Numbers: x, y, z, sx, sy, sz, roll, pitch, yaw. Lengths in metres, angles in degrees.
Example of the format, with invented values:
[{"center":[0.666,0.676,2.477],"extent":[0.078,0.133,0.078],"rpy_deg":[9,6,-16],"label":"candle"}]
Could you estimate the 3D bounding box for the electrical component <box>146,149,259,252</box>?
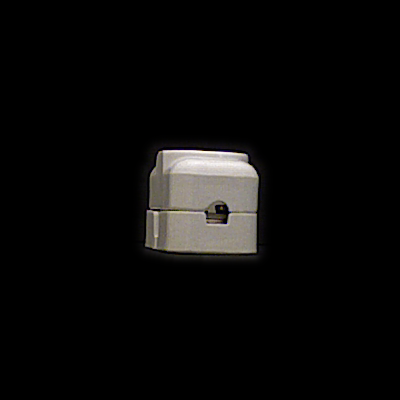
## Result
[{"center":[0.000,0.000,0.656],"extent":[0.054,0.059,0.094],"rpy_deg":[1,0,-13],"label":"electrical component"}]
